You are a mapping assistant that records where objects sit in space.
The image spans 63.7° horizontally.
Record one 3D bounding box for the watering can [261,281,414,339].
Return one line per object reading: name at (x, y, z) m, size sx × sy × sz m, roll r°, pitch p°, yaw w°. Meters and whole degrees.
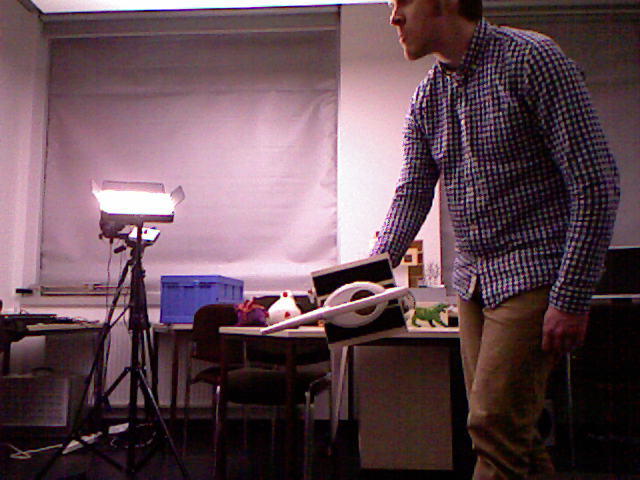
watering can at (0.048, 0.162, 1.201) m, size 0.348 × 0.105 × 0.224 m, roll -16°, pitch -8°, yaw 7°
